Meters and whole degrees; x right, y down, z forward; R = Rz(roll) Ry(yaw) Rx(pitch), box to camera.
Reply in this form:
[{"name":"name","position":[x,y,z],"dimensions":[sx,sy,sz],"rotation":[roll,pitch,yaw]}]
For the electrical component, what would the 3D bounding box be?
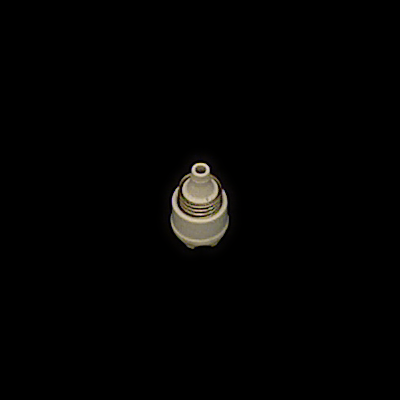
[{"name":"electrical component","position":[0.000,0.000,0.640],"dimensions":[0.035,0.035,0.062],"rotation":[0,-37,-2]}]
